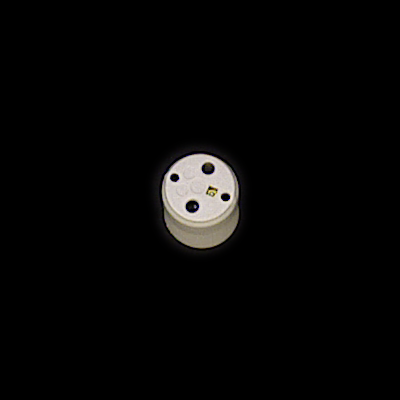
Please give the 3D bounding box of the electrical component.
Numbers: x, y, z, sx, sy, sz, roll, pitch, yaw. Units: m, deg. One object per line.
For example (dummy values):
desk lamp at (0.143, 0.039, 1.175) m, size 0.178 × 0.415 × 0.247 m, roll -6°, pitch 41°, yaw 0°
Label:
electrical component at (0.000, 0.000, 0.628) m, size 0.045 × 0.045 × 0.055 m, roll 0°, pitch -16°, yaw 1°
